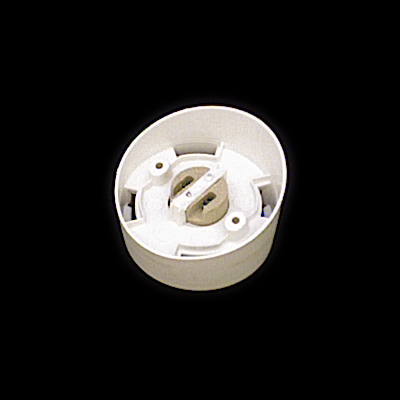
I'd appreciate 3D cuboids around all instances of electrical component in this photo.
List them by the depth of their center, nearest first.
[{"bbox_3d":[0.000,0.000,0.626,0.099,0.098,0.064,0,-38,-1],"label":"electrical component"}]
